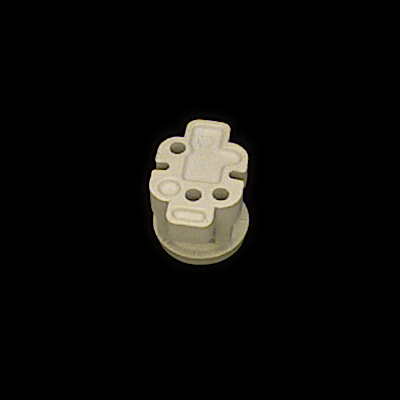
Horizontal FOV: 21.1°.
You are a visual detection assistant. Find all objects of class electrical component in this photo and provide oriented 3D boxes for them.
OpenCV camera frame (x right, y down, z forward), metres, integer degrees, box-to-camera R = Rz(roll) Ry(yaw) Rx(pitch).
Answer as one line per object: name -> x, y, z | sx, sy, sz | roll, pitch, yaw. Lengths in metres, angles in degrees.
electrical component -> 0.000, 0.000, 0.638 | 0.058, 0.078, 0.057 | 6, -38, 5
